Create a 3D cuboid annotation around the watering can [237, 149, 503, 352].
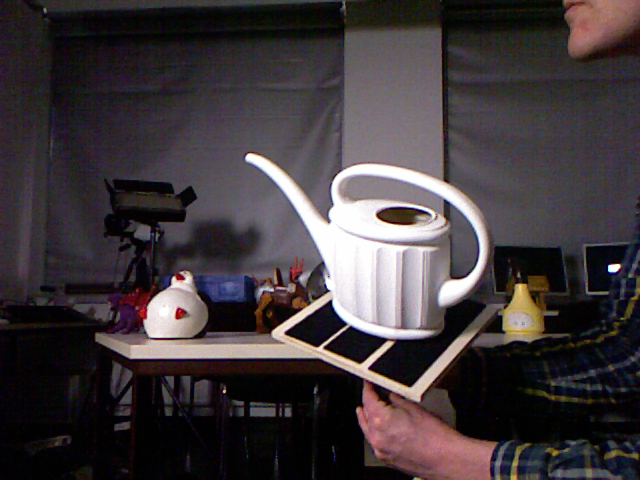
[{"bbox_3d":[0.042,0.004,0.626,0.352,0.222,0.106,17,32,33],"label":"watering can"}]
